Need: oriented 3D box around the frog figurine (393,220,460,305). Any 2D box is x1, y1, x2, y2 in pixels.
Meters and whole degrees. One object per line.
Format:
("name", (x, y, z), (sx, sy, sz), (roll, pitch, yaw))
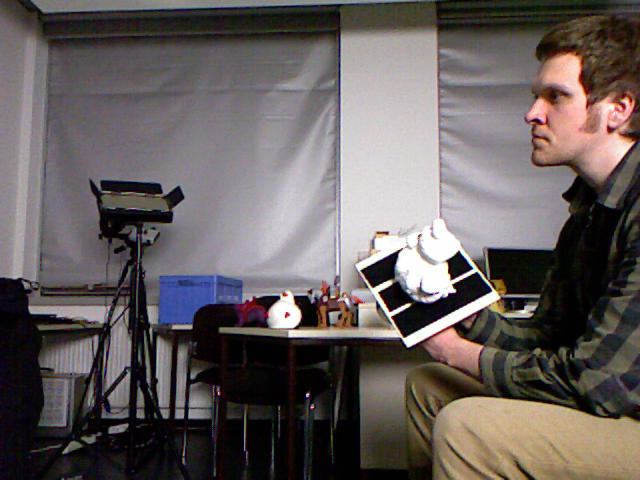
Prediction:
("frog figurine", (0.200, 0.042, 0.965), (0.123, 0.141, 0.156), (-10, -30, 1))
